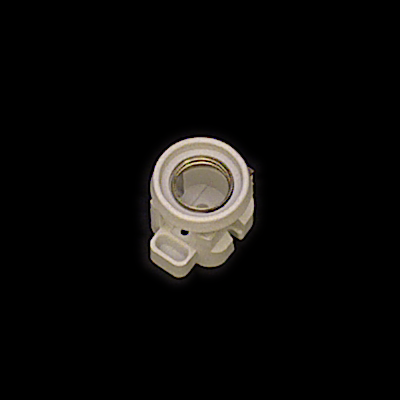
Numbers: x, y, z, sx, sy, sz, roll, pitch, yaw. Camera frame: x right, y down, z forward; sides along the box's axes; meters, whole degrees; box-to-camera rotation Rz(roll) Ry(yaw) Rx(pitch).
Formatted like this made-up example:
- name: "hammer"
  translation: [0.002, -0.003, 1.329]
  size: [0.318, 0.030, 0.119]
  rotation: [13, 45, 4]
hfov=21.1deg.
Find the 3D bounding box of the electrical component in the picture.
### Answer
- name: "electrical component"
  translation: [0.000, 0.000, 0.629]
  size: [0.057, 0.079, 0.057]
  rotation: [32, -23, 15]
